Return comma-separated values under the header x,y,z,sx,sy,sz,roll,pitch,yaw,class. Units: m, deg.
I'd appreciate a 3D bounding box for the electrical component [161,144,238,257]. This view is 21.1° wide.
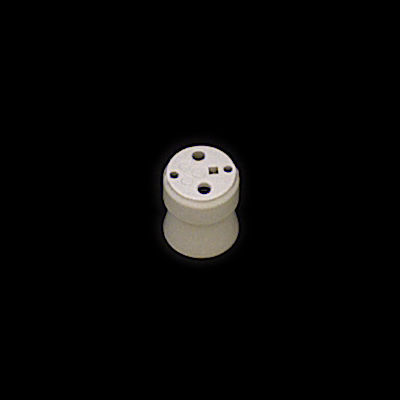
x,y,z,sx,sy,sz,roll,pitch,yaw,class
0.000,0.000,0.629,0.045,0.044,0.055,0,-37,0,electrical component
